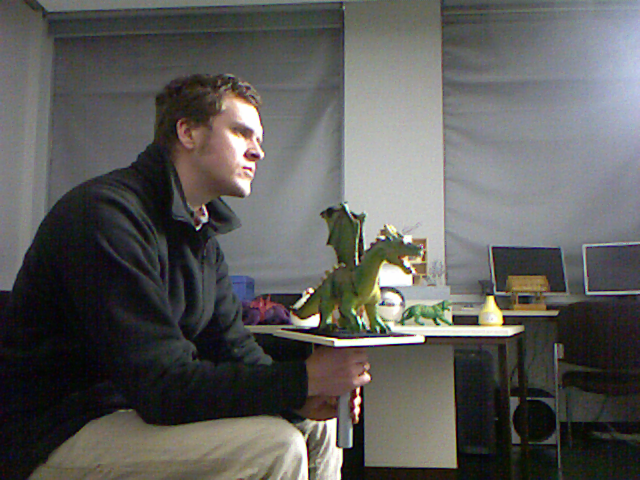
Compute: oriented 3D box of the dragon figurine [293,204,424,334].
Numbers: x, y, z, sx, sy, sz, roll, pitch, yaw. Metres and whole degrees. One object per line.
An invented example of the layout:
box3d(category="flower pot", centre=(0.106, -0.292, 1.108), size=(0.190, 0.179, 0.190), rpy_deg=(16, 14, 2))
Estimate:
box3d(category="dragon figurine", centre=(0.041, 0.052, 0.985), size=(0.122, 0.244, 0.409), rpy_deg=(1, -3, -34))
